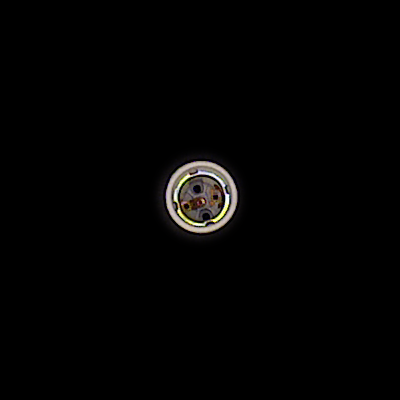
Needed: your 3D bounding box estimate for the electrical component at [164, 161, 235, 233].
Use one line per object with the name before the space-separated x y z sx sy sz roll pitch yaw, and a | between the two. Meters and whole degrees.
electrical component | 0.000 0.000 0.627 0.040 0.040 0.046 0 -6 0
